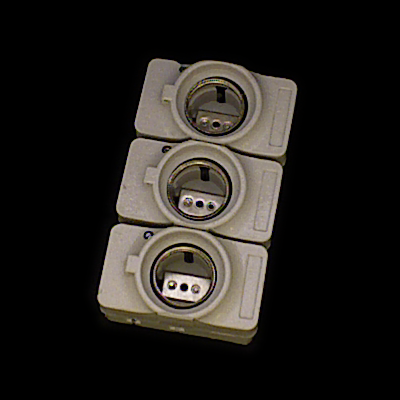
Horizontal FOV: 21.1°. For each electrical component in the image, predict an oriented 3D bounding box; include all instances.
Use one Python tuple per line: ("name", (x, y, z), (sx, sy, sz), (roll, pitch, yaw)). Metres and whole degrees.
("electrical component", (0.000, 0.000, 0.631), (0.089, 0.150, 0.062), (10, -17, 4))
